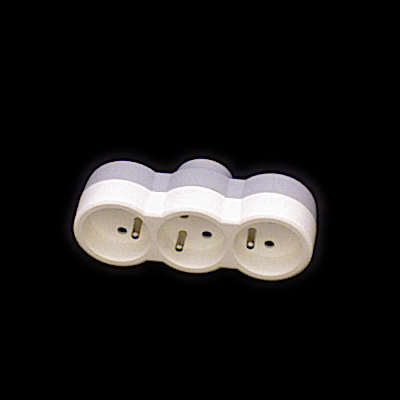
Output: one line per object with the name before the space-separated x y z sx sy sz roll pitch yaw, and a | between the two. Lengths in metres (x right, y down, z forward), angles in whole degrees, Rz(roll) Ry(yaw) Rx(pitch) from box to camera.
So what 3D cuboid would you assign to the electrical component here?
electrical component | 0.000 0.000 0.634 0.138 0.052 0.073 5 40 5
